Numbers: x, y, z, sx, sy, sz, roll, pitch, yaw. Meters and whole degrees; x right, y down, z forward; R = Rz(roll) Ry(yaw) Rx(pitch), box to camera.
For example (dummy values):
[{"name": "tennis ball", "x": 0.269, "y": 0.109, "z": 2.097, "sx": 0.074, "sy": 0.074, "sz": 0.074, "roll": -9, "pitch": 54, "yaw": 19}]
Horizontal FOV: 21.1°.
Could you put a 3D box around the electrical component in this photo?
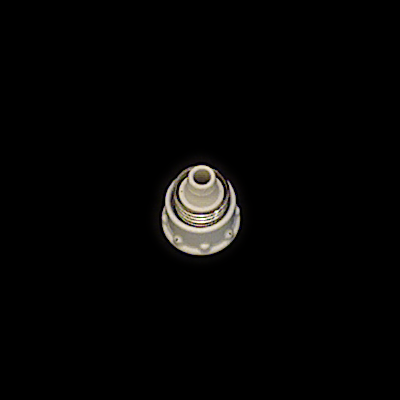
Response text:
[{"name": "electrical component", "x": 0.000, "y": 0.000, "z": 0.634, "sx": 0.048, "sy": 0.048, "sz": 0.062, "roll": 0, "pitch": -27, "yaw": -1}]
